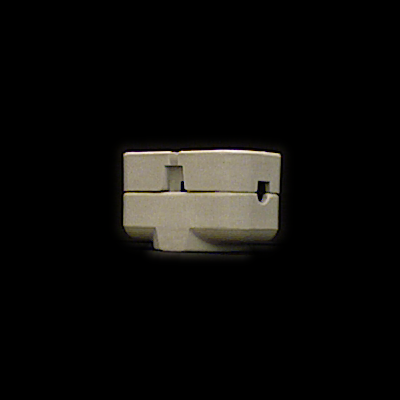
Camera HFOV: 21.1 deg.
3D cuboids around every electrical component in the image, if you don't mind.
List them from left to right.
[{"bbox_3d":[0.000,0.000,0.660,0.094,0.059,0.054,1,1,37],"label":"electrical component"}]
